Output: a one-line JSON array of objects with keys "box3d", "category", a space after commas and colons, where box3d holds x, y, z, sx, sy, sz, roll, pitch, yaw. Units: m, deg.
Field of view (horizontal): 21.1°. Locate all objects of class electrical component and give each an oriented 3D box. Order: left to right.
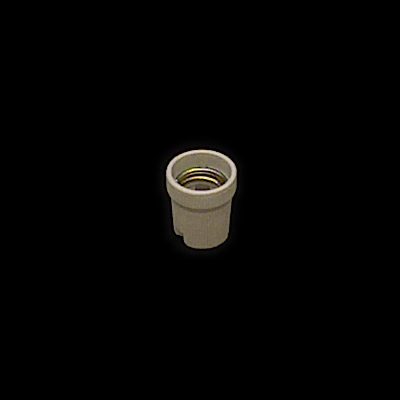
[{"box3d": [0.000, 0.000, 0.633, 0.040, 0.047, 0.039, 1, 42, 0], "category": "electrical component"}]
